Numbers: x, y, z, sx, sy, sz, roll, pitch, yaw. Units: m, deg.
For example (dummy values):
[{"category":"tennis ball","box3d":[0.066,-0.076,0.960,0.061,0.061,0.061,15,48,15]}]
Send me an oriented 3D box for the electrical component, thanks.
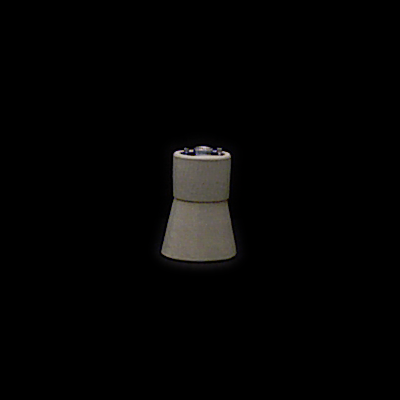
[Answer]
[{"category":"electrical component","box3d":[0.000,0.000,0.642,0.044,0.066,0.044,2,12,0]}]
